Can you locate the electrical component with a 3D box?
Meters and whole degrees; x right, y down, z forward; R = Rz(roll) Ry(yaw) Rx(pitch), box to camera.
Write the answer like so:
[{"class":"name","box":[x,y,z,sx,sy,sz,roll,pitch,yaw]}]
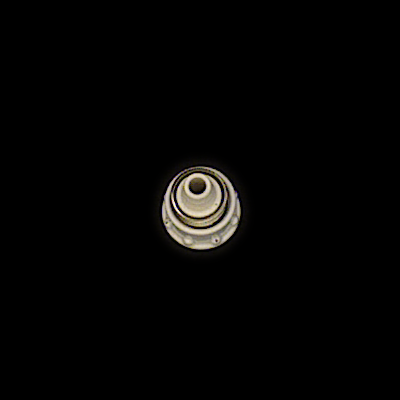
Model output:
[{"class":"electrical component","box":[0.000,0.000,0.633,0.048,0.048,0.061,0,-17,2]}]
